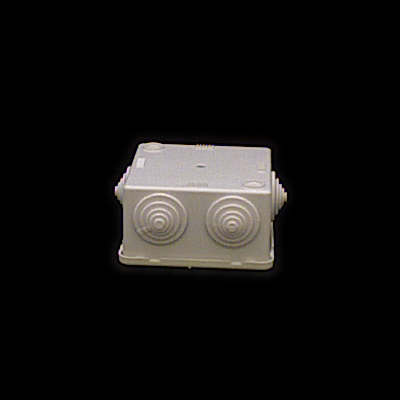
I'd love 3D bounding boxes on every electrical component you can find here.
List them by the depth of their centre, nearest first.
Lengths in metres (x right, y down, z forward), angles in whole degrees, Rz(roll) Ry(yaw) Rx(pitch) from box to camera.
[{"bbox_3d":[0.000,0.000,0.641,0.100,0.049,0.098,2,21,2],"label":"electrical component"}]
